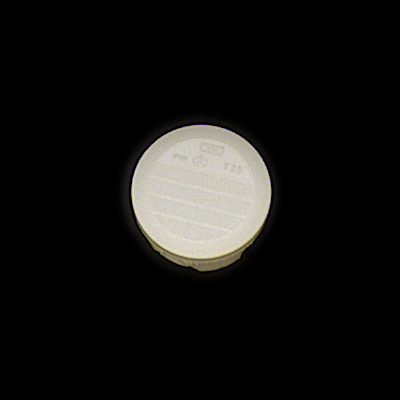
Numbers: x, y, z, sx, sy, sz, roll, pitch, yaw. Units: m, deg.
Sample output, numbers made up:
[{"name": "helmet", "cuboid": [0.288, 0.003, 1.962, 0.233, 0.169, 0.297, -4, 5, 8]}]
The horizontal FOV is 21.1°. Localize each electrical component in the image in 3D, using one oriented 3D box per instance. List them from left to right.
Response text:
[{"name": "electrical component", "cuboid": [0.000, 0.000, 0.630, 0.080, 0.080, 0.050, 0, -17, 0]}]
